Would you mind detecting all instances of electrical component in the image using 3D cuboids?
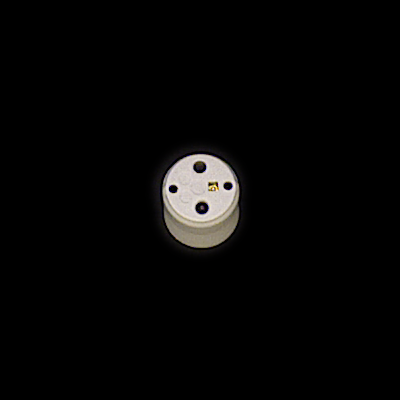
[{"bbox_3d":[0.000,0.000,0.628,0.045,0.045,0.055,0,-16,1],"label":"electrical component"}]
